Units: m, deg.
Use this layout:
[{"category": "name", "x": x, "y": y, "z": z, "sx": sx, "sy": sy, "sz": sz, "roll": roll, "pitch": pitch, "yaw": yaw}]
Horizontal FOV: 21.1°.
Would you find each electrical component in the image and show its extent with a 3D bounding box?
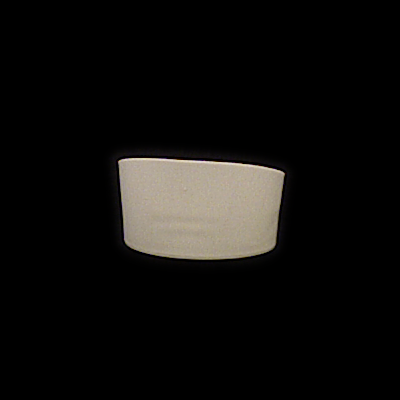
[{"category": "electrical component", "x": 0.000, "y": 0.000, "z": 0.643, "sx": 0.099, "sy": 0.064, "sz": 0.098, "roll": 1, "pitch": 11, "yaw": 0}]
